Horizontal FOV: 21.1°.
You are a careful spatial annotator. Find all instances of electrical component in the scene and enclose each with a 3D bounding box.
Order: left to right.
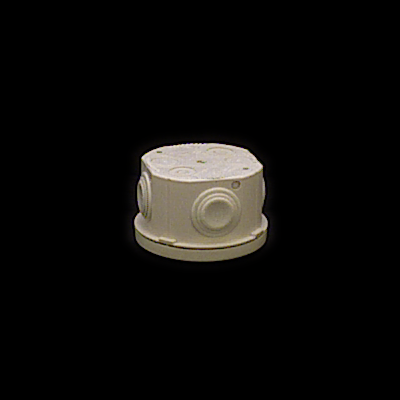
[{"bbox_3d":[0.000,0.000,0.641,0.080,0.051,0.079,1,21,0],"label":"electrical component"}]
